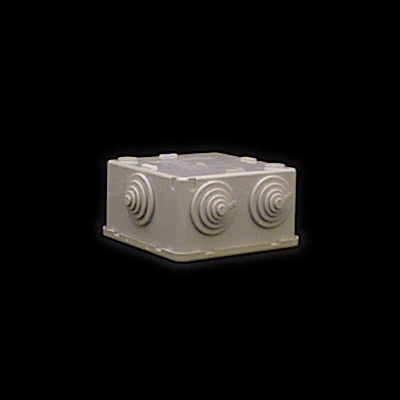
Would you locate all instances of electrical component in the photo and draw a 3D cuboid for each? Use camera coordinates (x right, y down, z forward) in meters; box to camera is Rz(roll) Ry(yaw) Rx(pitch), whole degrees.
[{"bbox_3d":[0.000,0.000,0.644,0.100,0.049,0.099,-6,13,-34],"label":"electrical component"}]
